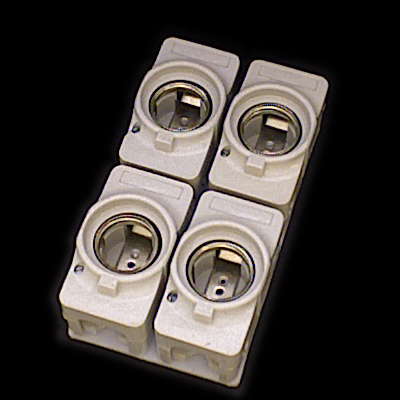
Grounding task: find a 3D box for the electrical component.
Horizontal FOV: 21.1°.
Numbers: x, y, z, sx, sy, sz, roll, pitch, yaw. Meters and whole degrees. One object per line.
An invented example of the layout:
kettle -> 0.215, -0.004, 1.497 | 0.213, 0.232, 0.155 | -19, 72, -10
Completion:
electrical component -> 0.000, 0.000, 0.625 | 0.105, 0.186, 0.060 | 16, -26, 8
